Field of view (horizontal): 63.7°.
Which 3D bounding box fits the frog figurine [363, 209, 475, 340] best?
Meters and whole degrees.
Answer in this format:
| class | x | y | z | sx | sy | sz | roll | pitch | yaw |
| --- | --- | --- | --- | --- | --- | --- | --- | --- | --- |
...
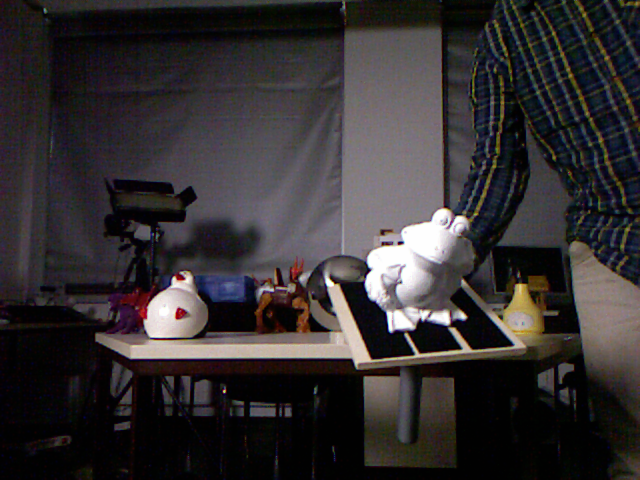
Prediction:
| class | x | y | z | sx | sy | sz | roll | pitch | yaw |
| --- | --- | --- | --- | --- | --- | --- | --- | --- | --- |
| frog figurine | 0.125 | 0.030 | 0.650 | 0.137 | 0.157 | 0.125 | 1 | 23 | -2 |
